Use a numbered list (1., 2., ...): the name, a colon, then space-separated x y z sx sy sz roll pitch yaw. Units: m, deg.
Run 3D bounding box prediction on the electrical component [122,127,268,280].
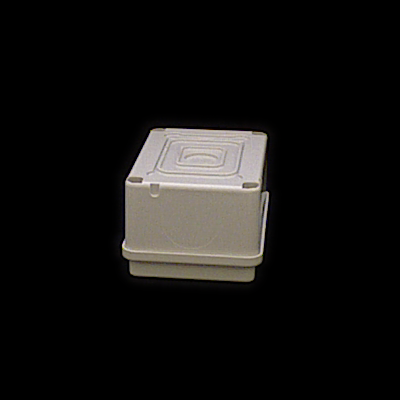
1. electrical component: 0.000 0.000 0.639 0.078 0.058 0.112 3 20 5
